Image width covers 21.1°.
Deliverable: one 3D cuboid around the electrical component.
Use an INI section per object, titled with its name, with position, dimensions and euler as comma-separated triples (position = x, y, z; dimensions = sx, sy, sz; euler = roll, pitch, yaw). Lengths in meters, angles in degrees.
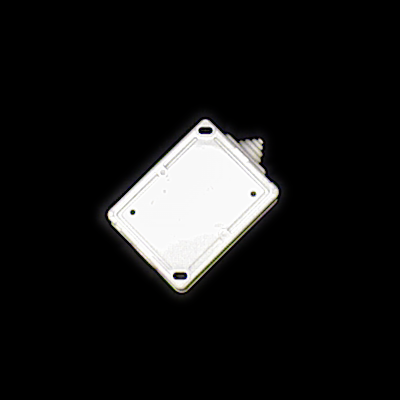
[electrical component]
position = 0.001, 0.000, 0.627
dimensions = 0.096, 0.062, 0.061
euler = -45, -6, -4
